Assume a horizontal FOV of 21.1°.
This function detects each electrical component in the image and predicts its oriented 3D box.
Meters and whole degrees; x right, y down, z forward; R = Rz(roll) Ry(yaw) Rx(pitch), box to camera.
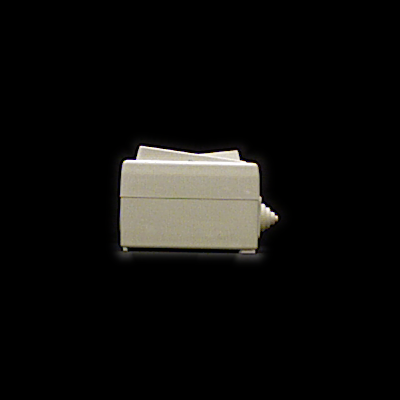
[{"bbox_3d":[0.000,0.000,0.650,0.096,0.061,0.061,1,0,-3],"label":"electrical component"}]
